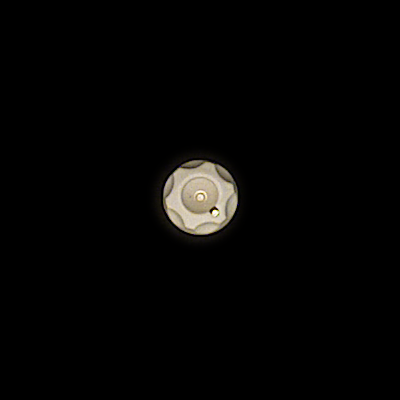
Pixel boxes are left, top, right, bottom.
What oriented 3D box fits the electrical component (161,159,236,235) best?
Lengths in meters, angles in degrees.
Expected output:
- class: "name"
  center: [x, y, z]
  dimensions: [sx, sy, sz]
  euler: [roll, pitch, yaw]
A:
- class: "electrical component"
  center: [0.000, 0.000, 0.635]
  dimensions: [0.043, 0.043, 0.062]
  euler: [0, -6, 2]
